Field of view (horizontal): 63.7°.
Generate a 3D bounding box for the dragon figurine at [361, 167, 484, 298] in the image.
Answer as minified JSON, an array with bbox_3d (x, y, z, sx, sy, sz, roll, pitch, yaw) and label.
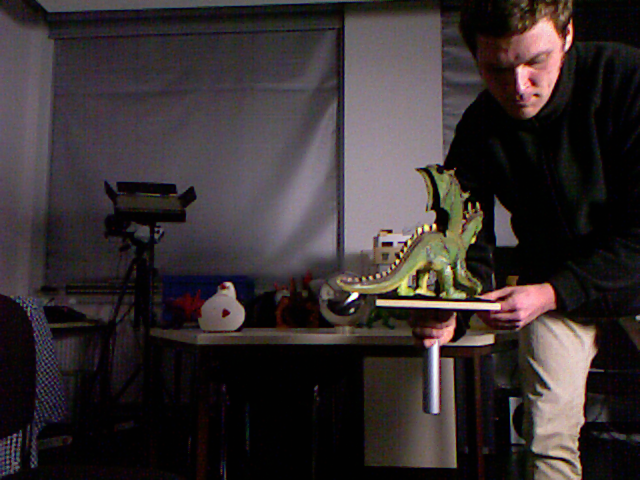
[{"bbox_3d":[0.212,-0.014,0.955,0.122,0.243,0.410,3,-2,38],"label":"dragon figurine"}]
